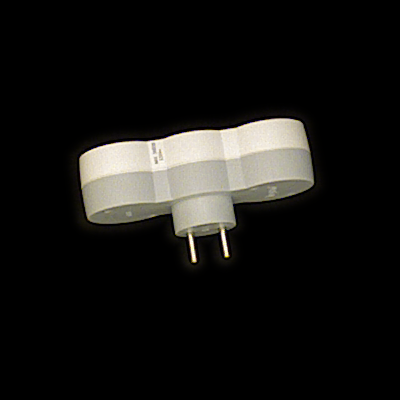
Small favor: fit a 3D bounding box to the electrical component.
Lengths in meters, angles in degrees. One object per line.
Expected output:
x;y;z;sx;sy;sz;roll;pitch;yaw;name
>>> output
0.000;0.000;0.637;0.138;0.074;0.052;-9;-15;-3;electrical component
